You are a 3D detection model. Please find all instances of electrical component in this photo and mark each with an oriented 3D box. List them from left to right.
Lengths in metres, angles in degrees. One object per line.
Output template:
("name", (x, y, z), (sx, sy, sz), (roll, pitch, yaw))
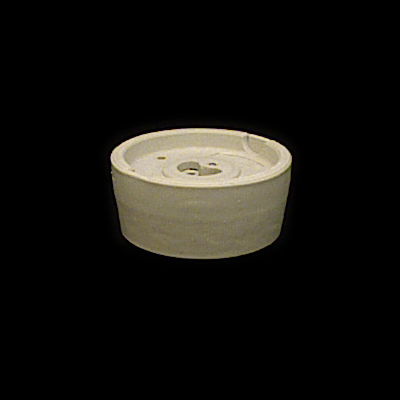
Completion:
("electrical component", (0.001, 0.000, 0.650), (0.108, 0.061, 0.106), (1, 21, 0))
